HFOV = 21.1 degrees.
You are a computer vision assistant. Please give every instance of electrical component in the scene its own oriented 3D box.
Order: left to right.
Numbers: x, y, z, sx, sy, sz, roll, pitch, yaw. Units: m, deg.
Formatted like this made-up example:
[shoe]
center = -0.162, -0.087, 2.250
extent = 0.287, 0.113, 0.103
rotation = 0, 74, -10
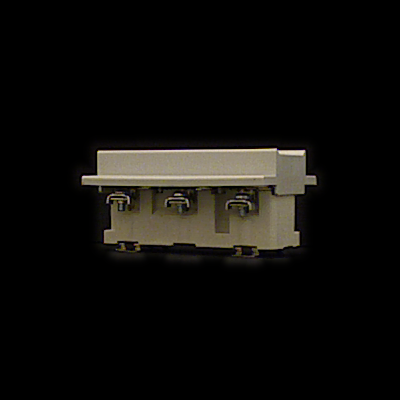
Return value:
[electrical component]
center = 0.000, 0.000, 0.660
extent = 0.121, 0.063, 0.079
rotation = 1, 2, 28
